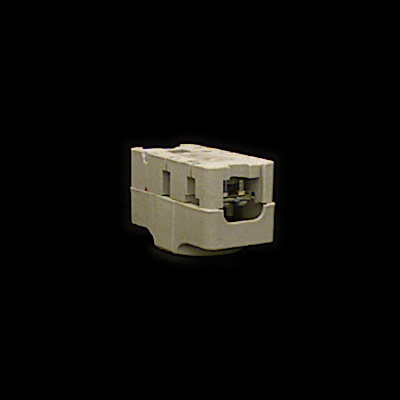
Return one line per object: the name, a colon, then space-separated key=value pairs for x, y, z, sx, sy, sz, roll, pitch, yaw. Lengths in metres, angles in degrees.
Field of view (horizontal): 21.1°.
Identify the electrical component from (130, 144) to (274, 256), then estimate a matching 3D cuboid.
electrical component: x=0.000 y=0.000 z=0.650 sx=0.050 sy=0.056 sz=0.088 roll=-8 pitch=14 yaw=-34
